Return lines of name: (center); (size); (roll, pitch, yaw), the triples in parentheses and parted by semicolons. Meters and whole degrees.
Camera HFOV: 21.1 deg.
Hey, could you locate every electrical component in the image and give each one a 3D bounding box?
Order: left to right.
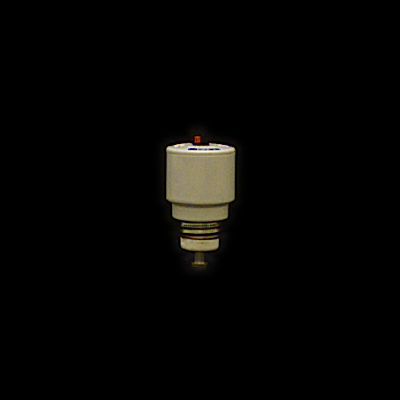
electrical component: (0.000, 0.000, 0.645); (0.040, 0.079, 0.040); (1, 11, 0)
